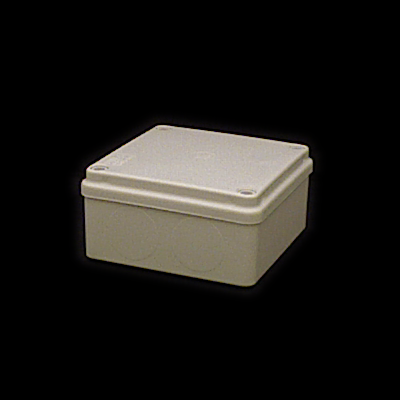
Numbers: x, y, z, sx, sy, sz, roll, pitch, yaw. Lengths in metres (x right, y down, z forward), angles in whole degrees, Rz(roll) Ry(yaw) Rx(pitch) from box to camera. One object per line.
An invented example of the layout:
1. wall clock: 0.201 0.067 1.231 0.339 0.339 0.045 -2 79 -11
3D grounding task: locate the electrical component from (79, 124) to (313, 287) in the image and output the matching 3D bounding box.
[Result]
1. electrical component: 0.000 0.000 0.640 0.108 0.057 0.108 10 22 20
